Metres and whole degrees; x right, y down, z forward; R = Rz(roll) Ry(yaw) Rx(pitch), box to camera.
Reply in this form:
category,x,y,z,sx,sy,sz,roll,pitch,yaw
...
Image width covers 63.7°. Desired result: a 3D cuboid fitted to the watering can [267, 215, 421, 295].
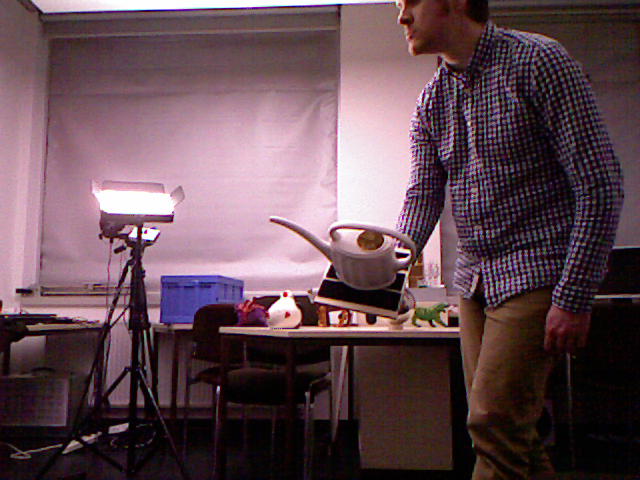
category,x,y,z,sx,sy,sz,roll,pitch,yaw
watering can,0.058,0.024,1.200,0.349,0.107,0.219,8,-38,14
